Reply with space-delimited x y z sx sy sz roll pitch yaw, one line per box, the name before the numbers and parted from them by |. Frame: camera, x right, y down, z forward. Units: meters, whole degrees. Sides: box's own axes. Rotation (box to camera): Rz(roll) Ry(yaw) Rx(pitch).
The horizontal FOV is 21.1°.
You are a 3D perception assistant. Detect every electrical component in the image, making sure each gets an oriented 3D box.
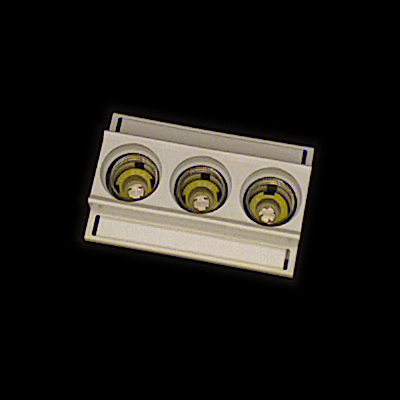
electrical component | 0.000 0.000 0.638 0.121 0.079 0.063 10 -17 4
